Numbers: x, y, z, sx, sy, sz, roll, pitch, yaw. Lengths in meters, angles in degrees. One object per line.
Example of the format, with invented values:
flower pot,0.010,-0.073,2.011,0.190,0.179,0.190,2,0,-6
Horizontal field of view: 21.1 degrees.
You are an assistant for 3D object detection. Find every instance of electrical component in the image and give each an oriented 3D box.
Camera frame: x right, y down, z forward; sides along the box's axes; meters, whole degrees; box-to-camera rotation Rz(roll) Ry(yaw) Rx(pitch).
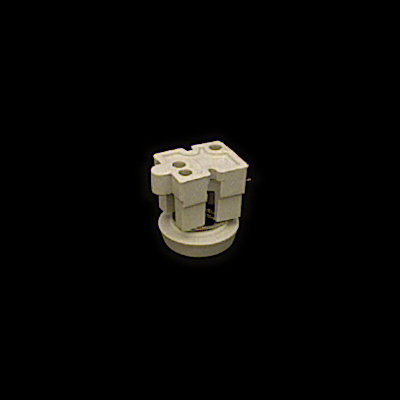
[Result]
electrical component,0.000,0.000,0.642,0.067,0.056,0.047,-14,34,-24
